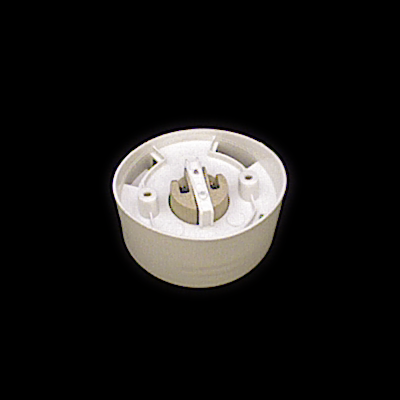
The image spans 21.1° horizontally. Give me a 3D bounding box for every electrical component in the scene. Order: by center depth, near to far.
[{"bbox_3d":[0.000,0.000,0.625,0.099,0.098,0.064,0,-37,-1],"label":"electrical component"}]
